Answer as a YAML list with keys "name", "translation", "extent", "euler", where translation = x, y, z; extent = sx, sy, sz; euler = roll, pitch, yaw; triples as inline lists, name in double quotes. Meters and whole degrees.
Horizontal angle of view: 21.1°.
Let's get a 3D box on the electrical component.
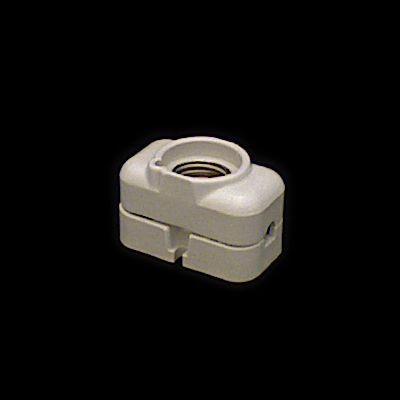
- name: "electrical component"
  translation: [0.000, 0.000, 0.640]
  extent: [0.094, 0.060, 0.053]
  euler: [17, 35, 24]
